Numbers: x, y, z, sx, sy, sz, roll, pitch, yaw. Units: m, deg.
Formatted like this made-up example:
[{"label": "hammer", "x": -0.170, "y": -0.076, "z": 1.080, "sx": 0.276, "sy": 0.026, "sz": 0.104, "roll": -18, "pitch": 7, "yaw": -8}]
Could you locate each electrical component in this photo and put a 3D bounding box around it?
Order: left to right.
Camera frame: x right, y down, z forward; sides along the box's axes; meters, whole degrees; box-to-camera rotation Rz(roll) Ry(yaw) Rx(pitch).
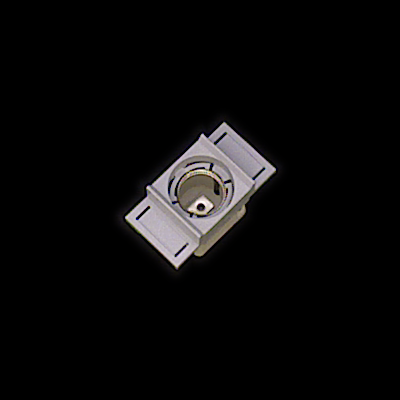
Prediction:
[{"label": "electrical component", "x": 0.000, "y": 0.000, "z": 0.623, "sx": 0.081, "sy": 0.042, "sz": 0.063, "roll": -44, "pitch": -11, "yaw": -12}]
